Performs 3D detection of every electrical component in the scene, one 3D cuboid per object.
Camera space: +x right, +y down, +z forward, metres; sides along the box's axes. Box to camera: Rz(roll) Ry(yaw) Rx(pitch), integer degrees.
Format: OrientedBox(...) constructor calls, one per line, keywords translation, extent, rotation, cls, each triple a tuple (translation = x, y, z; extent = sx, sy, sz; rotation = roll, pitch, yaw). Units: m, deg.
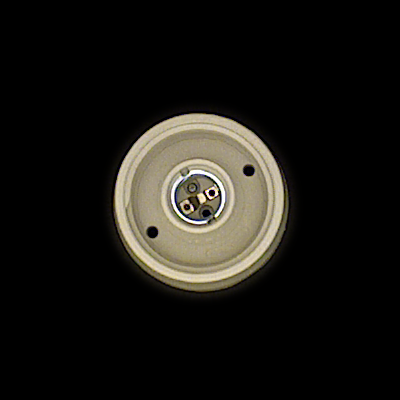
OrientedBox(translation=(0.000, 0.000, 0.635), extent=(0.108, 0.108, 0.060), rotation=(0, -6, 0), cls="electrical component")
